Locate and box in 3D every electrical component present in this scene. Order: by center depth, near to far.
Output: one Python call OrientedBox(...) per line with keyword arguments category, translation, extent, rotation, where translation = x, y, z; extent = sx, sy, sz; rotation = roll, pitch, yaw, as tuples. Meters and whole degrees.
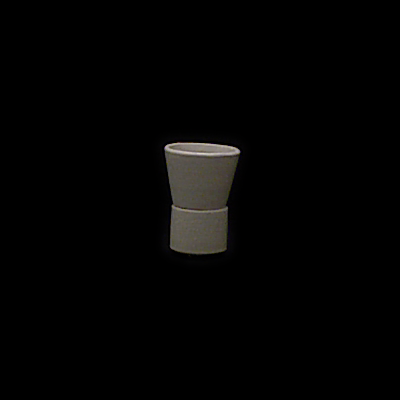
OrientedBox(category="electrical component", translation=(0.000, 0.000, 0.643), extent=(0.044, 0.066, 0.044), rotation=(2, 11, 0))
